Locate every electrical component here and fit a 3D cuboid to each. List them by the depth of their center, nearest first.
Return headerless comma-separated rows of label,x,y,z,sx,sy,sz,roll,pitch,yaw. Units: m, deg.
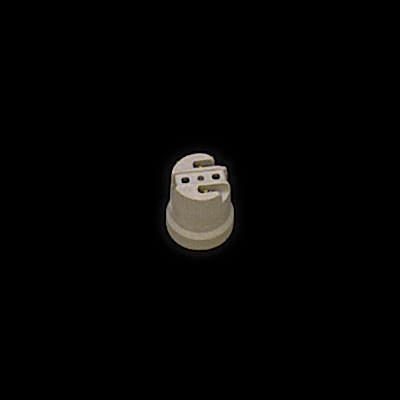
electrical component,0.000,0.000,0.633,0.040,0.040,0.046,0,-37,0
